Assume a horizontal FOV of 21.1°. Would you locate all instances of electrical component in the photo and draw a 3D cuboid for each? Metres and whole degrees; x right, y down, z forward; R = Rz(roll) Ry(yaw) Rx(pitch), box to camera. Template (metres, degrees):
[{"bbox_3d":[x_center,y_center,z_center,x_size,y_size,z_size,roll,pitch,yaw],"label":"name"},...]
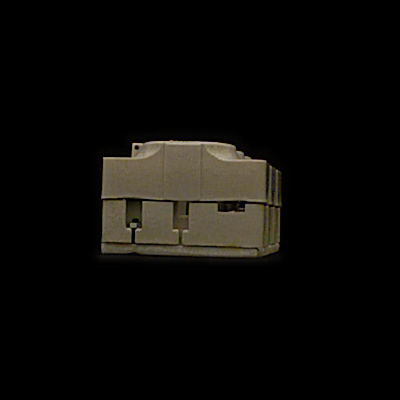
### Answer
[{"bbox_3d":[0.000,0.000,0.656,0.089,0.062,0.150,1,-1,7],"label":"electrical component"}]
